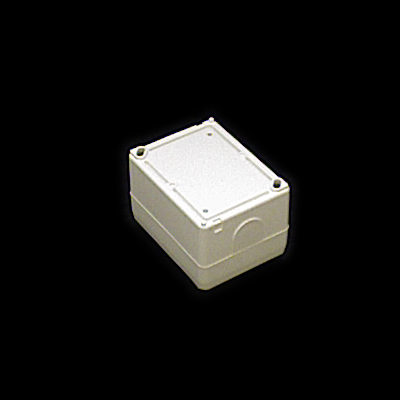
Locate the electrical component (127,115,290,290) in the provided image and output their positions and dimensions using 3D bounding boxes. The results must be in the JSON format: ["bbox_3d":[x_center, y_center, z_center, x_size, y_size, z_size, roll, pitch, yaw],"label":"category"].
[{"bbox_3d":[0.001,0.000,0.634,0.062,0.061,0.095,-24,48,-25],"label":"electrical component"}]
